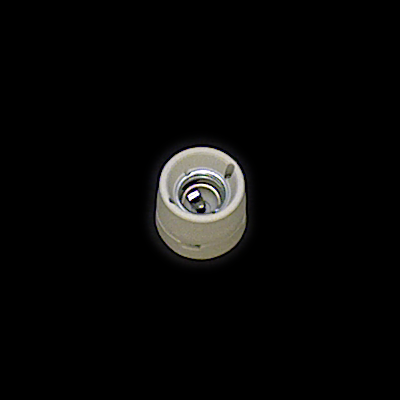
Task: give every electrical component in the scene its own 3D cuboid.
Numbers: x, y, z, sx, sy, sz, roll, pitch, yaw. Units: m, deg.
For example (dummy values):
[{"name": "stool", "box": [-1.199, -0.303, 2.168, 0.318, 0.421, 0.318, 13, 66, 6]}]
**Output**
[{"name": "electrical component", "box": [0.000, 0.000, 0.633, 0.055, 0.055, 0.047, 0, -27, -1]}]
